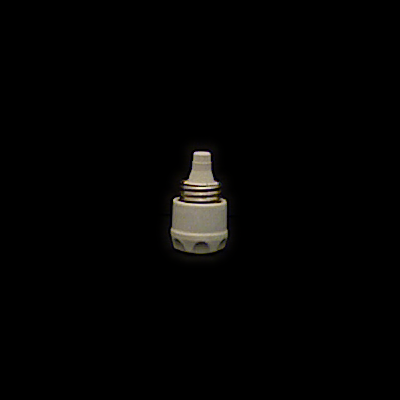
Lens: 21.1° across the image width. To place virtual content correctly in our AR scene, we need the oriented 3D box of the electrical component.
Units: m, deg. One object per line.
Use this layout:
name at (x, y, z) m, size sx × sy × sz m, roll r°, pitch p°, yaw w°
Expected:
electrical component at (0.000, 0.000, 0.659) m, size 0.035 × 0.062 × 0.035 m, roll 2°, pitch 13°, yaw 0°
